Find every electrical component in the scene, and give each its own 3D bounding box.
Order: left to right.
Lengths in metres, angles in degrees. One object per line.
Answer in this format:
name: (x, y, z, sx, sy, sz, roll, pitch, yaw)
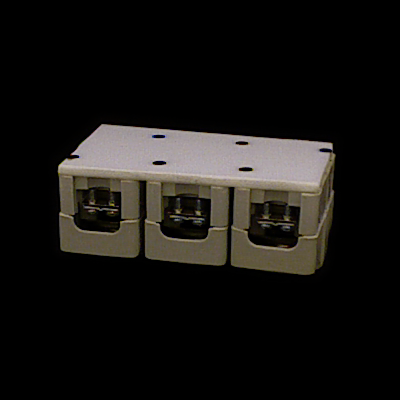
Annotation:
electrical component: (0.000, 0.000, 0.647, 0.150, 0.063, 0.088, 5, 21, 11)
